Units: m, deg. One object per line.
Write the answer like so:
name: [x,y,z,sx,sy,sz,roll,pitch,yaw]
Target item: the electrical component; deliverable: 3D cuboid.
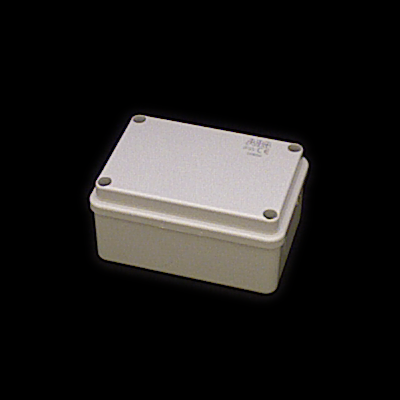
electrical component: [0.000,0.000,0.633,0.113,0.057,0.077,11,43,12]
